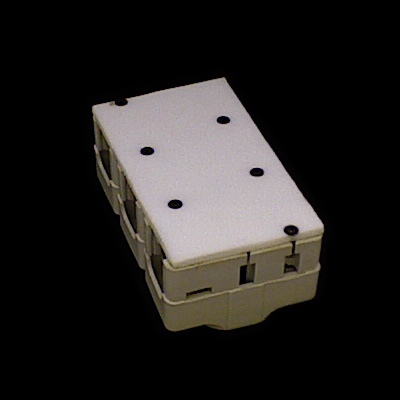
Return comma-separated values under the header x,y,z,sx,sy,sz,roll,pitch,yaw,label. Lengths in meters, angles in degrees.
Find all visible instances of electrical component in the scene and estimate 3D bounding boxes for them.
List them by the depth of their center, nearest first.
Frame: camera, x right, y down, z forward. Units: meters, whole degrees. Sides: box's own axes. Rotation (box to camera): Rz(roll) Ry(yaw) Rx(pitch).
x,y,z,sx,sy,sz,roll,pitch,yaw,label
0.000,0.000,0.635,0.089,0.063,0.147,-13,44,-15,electrical component
